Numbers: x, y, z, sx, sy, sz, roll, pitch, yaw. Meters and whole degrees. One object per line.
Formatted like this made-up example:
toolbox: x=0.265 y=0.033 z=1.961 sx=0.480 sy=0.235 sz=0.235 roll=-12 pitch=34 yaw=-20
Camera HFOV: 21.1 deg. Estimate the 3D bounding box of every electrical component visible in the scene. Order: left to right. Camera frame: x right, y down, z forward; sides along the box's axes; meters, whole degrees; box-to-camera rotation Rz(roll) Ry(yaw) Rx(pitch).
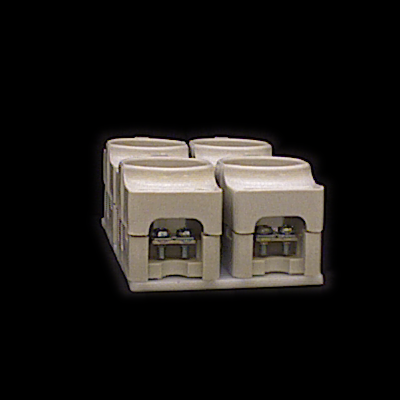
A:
electrical component: x=0.000 y=0.000 z=0.644 sx=0.106 sy=0.060 sz=0.184 roll=-1 pitch=10 yaw=-10
